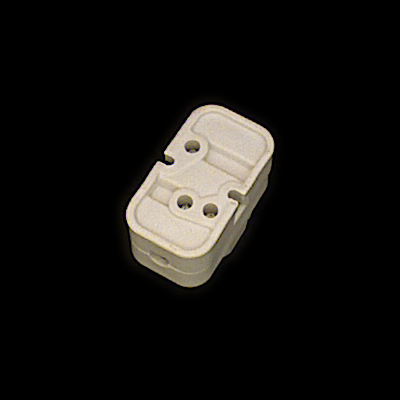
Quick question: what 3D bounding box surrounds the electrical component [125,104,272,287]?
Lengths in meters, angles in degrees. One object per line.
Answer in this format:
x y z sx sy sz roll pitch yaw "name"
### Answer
0.000 0.000 0.635 0.053 0.095 0.059 28 -24 13 "electrical component"
